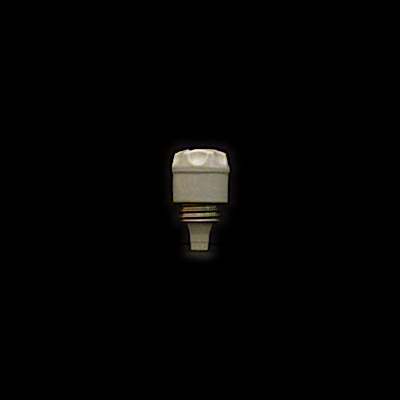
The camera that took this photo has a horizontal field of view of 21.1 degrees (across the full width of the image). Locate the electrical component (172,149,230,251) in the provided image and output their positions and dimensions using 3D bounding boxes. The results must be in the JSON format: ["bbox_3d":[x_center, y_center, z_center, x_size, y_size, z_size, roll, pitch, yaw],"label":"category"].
[{"bbox_3d":[0.000,0.000,0.656,0.035,0.061,0.035,1,2,1],"label":"electrical component"}]
